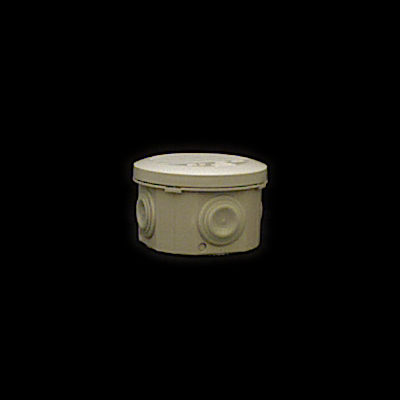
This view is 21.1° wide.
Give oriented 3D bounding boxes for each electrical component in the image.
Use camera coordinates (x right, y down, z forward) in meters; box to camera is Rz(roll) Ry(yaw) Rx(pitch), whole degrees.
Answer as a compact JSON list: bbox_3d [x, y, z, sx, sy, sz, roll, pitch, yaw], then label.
[{"bbox_3d":[0.000,0.000,0.643,0.080,0.051,0.079,1,10,0],"label":"electrical component"}]
